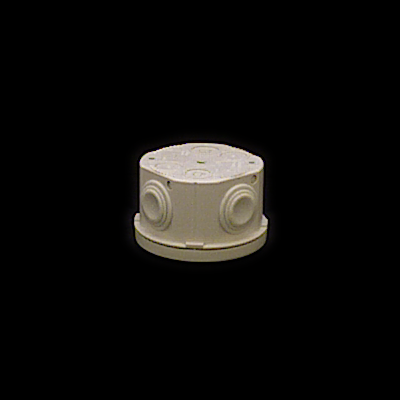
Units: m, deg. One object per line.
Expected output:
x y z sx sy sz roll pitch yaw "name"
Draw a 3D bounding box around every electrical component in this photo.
0.000 0.000 0.641 0.080 0.051 0.079 0 21 0 "electrical component"
